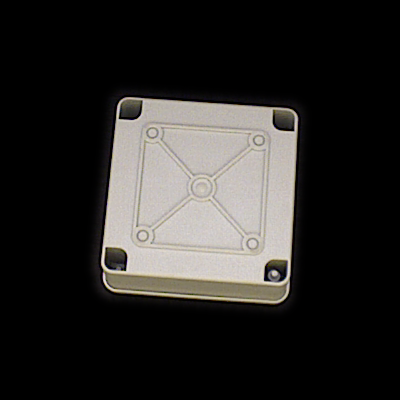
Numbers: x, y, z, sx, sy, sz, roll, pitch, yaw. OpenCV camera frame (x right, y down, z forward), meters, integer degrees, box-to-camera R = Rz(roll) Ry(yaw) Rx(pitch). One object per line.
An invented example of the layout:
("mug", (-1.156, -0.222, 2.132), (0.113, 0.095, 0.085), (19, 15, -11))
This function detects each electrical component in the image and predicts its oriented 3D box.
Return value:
("electrical component", (0.000, 0.000, 0.627), (0.109, 0.109, 0.056), (4, -17, 1))
